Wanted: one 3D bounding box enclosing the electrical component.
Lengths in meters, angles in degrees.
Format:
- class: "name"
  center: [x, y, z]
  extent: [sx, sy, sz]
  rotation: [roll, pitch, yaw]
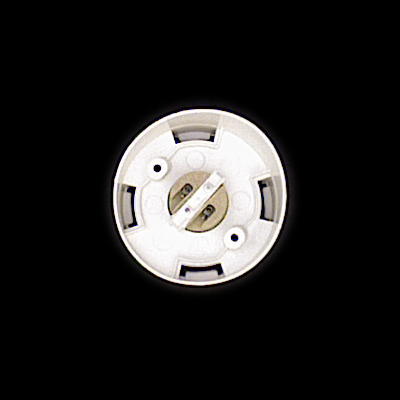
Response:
- class: "electrical component"
  center: [0.000, 0.000, 0.624]
  extent: [0.099, 0.099, 0.064]
  rotation: [0, -8, 0]
